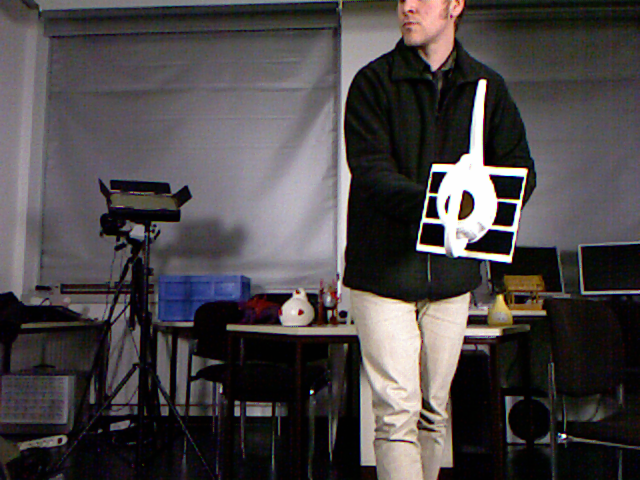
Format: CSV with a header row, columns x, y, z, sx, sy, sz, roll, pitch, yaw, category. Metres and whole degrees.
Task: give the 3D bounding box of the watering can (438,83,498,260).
x,y,z,sx,sy,sz,roll,pitch,yaw,category
0.316,-0.127,1.068,0.104,0.348,0.223,13,-1,26,watering can
